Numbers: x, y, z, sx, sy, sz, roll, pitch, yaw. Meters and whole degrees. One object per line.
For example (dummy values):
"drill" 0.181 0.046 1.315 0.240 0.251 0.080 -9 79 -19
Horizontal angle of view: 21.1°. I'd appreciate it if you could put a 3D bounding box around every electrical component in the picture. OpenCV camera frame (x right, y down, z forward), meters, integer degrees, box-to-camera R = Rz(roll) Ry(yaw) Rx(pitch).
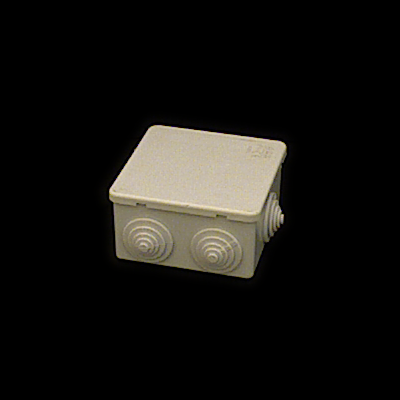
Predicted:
"electrical component" 0.000 0.000 0.646 0.099 0.049 0.099 9 33 12
